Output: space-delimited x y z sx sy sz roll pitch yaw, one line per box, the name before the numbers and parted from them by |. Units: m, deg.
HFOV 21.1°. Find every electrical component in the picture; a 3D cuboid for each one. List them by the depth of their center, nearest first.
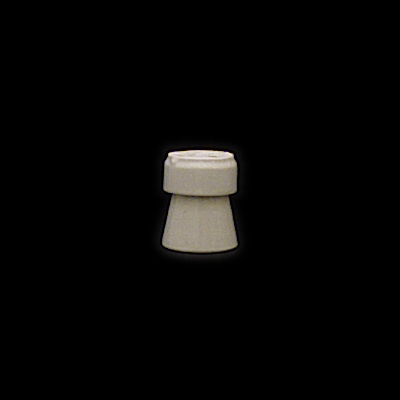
electrical component | 0.000 0.000 0.646 0.045 0.055 0.044 1 11 0
